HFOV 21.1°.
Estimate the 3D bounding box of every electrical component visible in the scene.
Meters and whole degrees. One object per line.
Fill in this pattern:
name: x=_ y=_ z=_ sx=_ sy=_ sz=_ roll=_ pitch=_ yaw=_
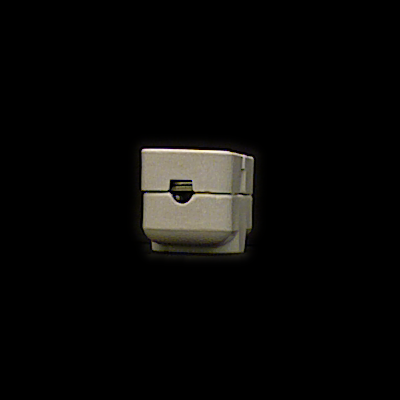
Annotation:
electrical component: x=0.000 y=0.000 z=0.656 sx=0.053 sy=0.059 sz=0.095 roll=2 pitch=1 yaw=12
